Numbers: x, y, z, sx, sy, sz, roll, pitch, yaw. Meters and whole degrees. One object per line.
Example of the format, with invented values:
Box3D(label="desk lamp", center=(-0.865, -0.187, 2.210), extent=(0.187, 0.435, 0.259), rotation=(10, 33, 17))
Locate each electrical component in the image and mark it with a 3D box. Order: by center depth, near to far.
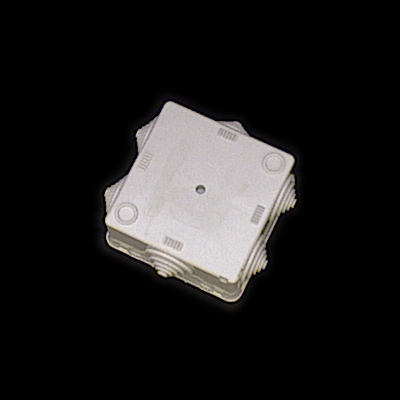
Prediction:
Box3D(label="electrical component", center=(0.000, 0.000, 0.631), extent=(0.100, 0.100, 0.048), rotation=(25, -15, 7))
